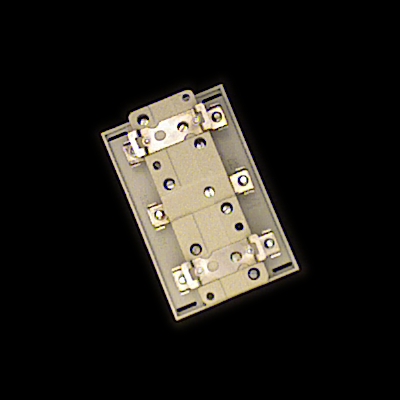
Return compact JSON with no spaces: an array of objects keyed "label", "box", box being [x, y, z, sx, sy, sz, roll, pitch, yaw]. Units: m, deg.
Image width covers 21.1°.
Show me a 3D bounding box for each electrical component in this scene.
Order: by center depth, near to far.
[{"label":"electrical component","box":[0.000,0.000,0.634,0.079,0.121,0.063,-23,-6,-1]}]
